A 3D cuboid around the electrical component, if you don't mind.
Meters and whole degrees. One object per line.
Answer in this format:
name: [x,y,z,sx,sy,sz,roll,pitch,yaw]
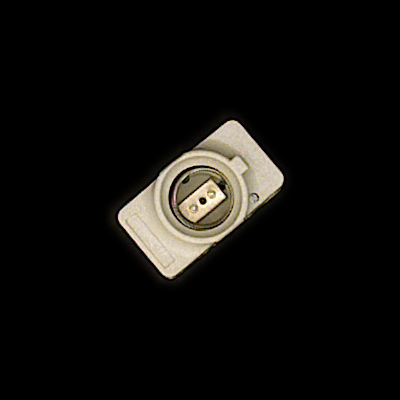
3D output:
electrical component: [0.000,0.000,0.637,0.090,0.050,0.055,-40,-5,-3]
